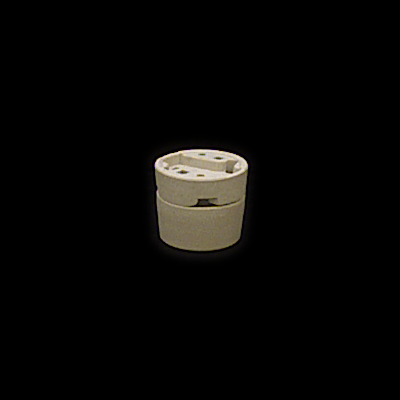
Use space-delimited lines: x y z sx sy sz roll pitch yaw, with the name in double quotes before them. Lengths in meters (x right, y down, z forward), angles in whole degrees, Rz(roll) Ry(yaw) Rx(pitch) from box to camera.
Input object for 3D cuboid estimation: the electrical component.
"electrical component" 0.000 0.000 0.642 0.055 0.047 0.055 1 21 0
